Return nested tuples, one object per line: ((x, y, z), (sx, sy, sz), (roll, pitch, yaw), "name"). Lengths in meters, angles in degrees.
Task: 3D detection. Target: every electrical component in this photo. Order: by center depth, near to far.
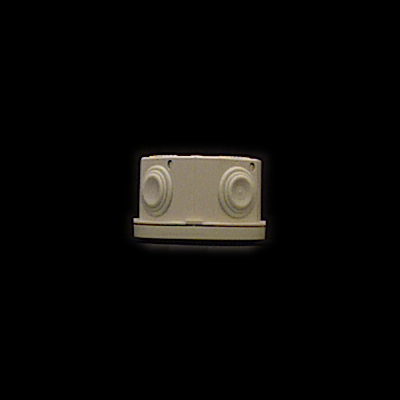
((0.000, 0.000, 0.652), (0.080, 0.051, 0.080), (1, 0, 0), "electrical component")
